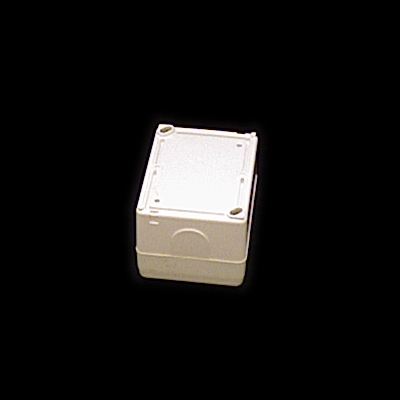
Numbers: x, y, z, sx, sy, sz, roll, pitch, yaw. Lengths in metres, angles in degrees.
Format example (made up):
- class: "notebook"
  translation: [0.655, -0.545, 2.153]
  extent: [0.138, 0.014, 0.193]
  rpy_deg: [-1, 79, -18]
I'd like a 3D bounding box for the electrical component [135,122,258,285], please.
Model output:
- class: "electrical component"
  translation: [0.000, 0.000, 0.632]
  extent: [0.062, 0.061, 0.095]
  rpy_deg: [5, 41, 5]
